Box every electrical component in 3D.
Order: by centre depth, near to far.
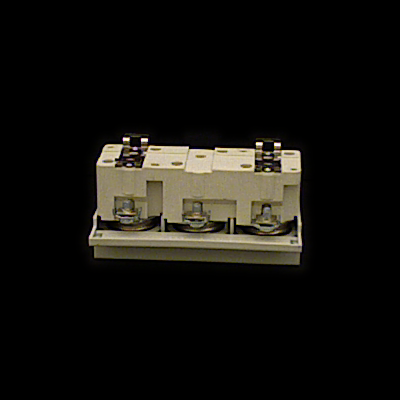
[{"bbox_3d":[0.000,0.000,0.643,0.121,0.064,0.077,2,22,2],"label":"electrical component"}]
